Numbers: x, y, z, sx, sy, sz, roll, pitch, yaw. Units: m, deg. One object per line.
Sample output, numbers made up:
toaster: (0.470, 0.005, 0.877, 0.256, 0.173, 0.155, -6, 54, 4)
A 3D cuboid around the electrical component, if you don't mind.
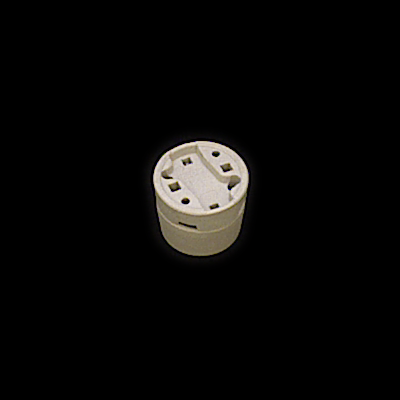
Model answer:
electrical component: (0.000, 0.000, 0.635, 0.055, 0.055, 0.047, 0, -38, -1)
